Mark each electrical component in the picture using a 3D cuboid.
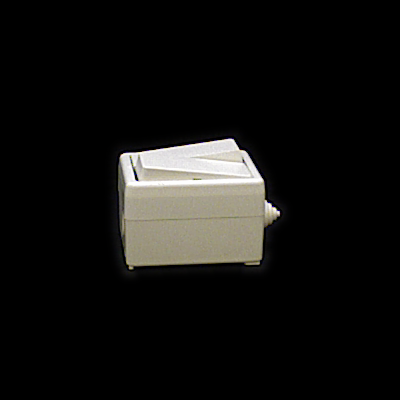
[{"bbox_3d":[0.000,0.000,0.639,0.096,0.061,0.061,-2,21,-7],"label":"electrical component"}]
